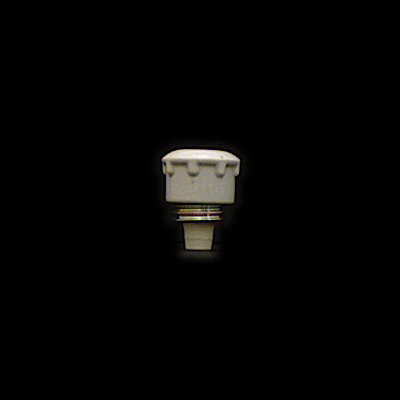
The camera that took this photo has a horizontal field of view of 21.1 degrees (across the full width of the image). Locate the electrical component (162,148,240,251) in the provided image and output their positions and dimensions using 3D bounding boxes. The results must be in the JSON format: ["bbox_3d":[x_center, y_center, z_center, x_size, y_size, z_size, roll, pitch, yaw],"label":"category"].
[{"bbox_3d":[0.000,0.000,0.659,0.048,0.062,0.048,1,2,0],"label":"electrical component"}]
